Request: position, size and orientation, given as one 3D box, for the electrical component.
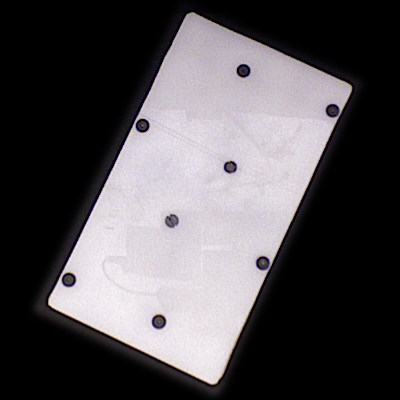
[{"bbox_3d":[0.000,0.000,0.626,0.105,0.187,0.060,25,-6,3],"label":"electrical component"}]
